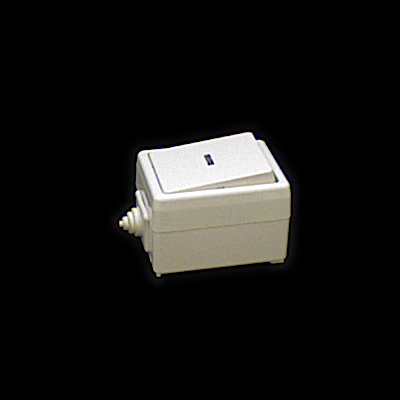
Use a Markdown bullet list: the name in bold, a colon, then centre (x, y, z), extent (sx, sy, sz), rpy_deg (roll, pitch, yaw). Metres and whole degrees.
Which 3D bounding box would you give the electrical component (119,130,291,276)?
- **electrical component**: centre (0.000, 0.000, 0.634), extent (0.096, 0.061, 0.061), rpy_deg (-6, 32, -12)
